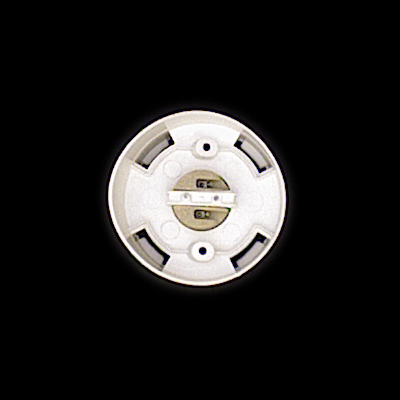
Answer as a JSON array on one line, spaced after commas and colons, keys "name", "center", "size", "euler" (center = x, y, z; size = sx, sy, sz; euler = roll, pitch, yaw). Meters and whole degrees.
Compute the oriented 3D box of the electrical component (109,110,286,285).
[{"name": "electrical component", "center": [0.000, 0.000, 0.624], "size": [0.099, 0.099, 0.064], "euler": [0, -6, 1]}]
